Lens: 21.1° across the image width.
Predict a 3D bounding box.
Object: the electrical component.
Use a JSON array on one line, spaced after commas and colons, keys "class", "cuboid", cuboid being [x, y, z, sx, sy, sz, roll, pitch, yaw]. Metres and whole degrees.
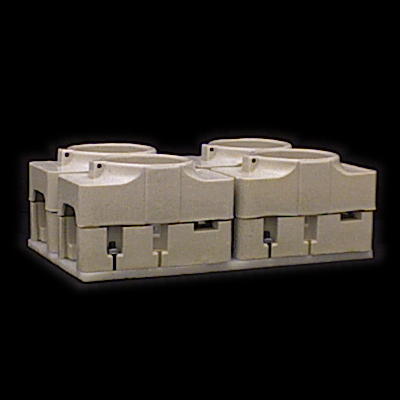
[{"class": "electrical component", "cuboid": [0.000, 0.000, 0.643, 0.186, 0.061, 0.104, -4, 11, -25]}]
